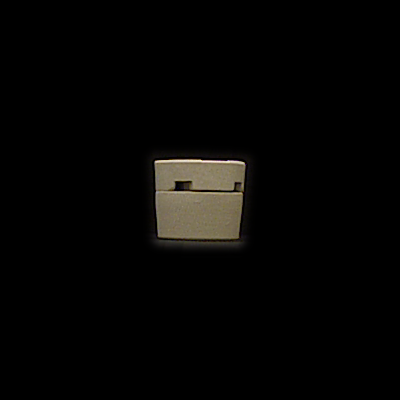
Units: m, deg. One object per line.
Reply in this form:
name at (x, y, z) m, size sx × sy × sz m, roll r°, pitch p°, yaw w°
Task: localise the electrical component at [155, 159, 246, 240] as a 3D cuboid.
electrical component at (0.000, 0.000, 0.650) m, size 0.055 × 0.047 × 0.055 m, roll 2°, pitch 1°, yaw 0°
